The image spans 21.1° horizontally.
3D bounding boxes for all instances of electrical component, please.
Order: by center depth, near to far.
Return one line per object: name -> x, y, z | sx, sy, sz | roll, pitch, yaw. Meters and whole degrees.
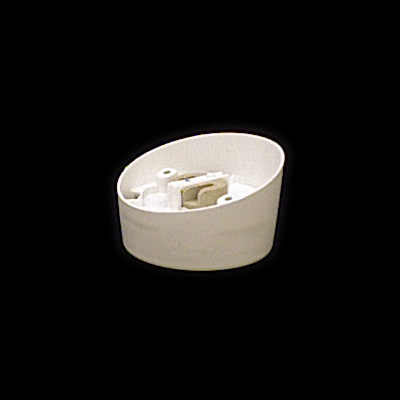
electrical component -> 0.000, 0.000, 0.639 | 0.099, 0.065, 0.097 | 1, 20, 0
